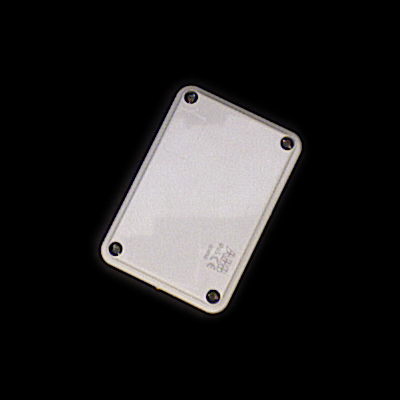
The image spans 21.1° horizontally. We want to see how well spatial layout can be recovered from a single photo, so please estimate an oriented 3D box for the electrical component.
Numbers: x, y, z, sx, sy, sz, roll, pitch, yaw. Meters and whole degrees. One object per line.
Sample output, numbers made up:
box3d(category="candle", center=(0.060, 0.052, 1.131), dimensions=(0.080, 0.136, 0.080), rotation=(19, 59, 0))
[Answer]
box3d(category="electrical component", center=(0.000, 0.000, 0.627), dimensions=(0.078, 0.113, 0.057), rotation=(26, -6, 3))
